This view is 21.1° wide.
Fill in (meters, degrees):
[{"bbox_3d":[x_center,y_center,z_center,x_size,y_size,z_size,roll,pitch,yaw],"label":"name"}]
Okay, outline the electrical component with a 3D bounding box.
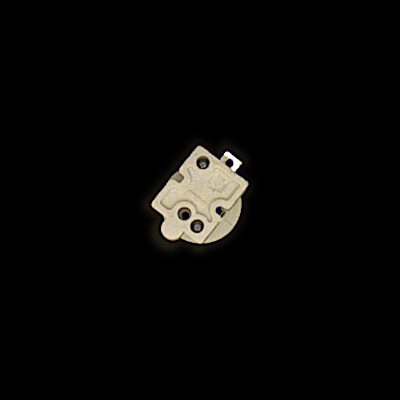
[{"bbox_3d":[0.000,0.000,0.638,0.048,0.067,0.055,39,-5,5],"label":"electrical component"}]
